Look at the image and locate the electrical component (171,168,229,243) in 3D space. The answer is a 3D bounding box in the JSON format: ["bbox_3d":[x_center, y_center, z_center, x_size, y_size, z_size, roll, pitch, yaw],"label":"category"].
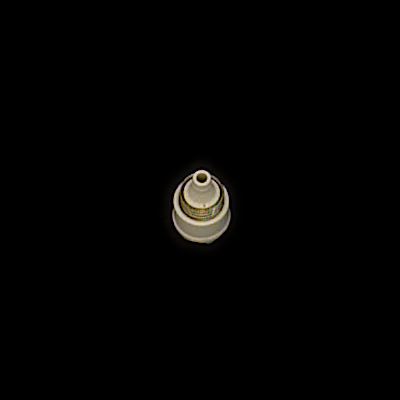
[{"bbox_3d":[0.000,0.000,0.638,0.035,0.035,0.061,0,-26,-1],"label":"electrical component"}]
